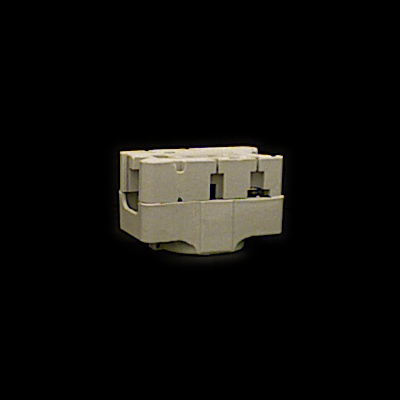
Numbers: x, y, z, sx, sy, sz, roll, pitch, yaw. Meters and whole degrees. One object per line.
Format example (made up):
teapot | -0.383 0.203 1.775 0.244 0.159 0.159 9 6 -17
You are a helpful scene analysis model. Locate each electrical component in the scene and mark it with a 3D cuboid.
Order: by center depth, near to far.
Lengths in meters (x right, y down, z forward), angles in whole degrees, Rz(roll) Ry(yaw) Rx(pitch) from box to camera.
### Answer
electrical component | 0.000 0.000 0.651 0.090 0.056 0.049 -4 14 -23
